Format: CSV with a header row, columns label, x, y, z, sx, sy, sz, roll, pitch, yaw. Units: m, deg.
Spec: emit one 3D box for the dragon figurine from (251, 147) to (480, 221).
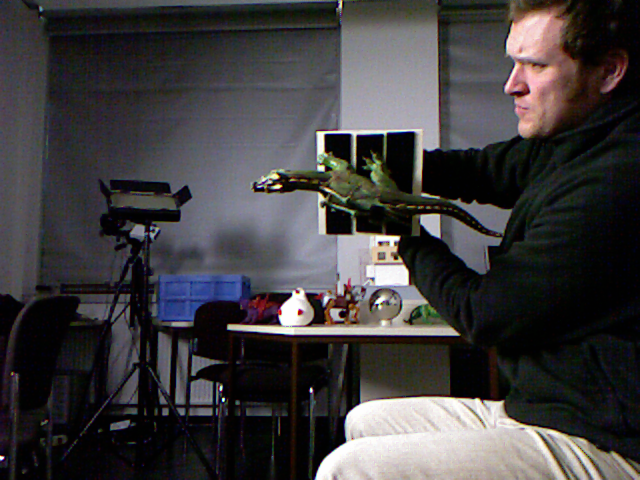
label,x,y,z,sx,sy,sz,roll,pitch,yaw
dragon figurine,0.087,-0.068,0.890,0.413,0.121,0.247,13,18,6
